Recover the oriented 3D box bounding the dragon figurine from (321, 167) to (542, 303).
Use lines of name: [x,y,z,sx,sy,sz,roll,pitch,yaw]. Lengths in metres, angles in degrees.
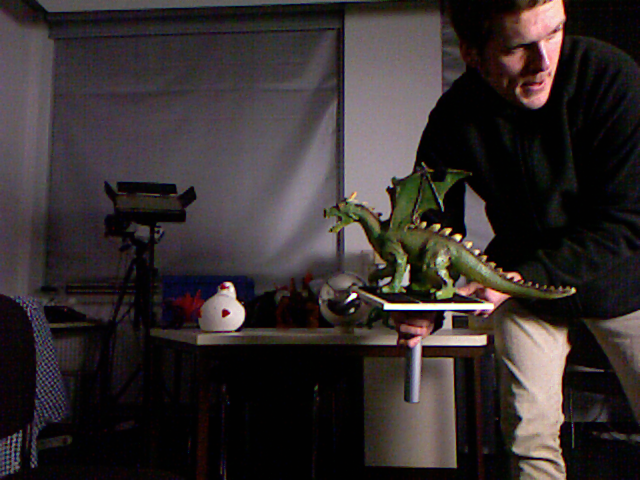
dragon figurine: [0.203,-0.017,0.979,0.410,0.242,0.123,2,5,16]
